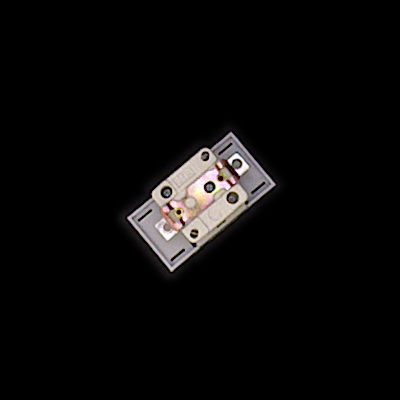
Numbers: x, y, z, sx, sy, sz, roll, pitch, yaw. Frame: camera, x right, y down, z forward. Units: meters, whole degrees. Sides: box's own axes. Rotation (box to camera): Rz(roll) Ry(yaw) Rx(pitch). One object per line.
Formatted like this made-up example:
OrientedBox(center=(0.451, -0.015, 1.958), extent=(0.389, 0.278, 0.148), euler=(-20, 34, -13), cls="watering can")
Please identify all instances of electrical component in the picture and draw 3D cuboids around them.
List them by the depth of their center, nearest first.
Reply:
OrientedBox(center=(0.000, 0.000, 0.626), extent=(0.081, 0.042, 0.063), euler=(-40, -5, -4), cls="electrical component")
